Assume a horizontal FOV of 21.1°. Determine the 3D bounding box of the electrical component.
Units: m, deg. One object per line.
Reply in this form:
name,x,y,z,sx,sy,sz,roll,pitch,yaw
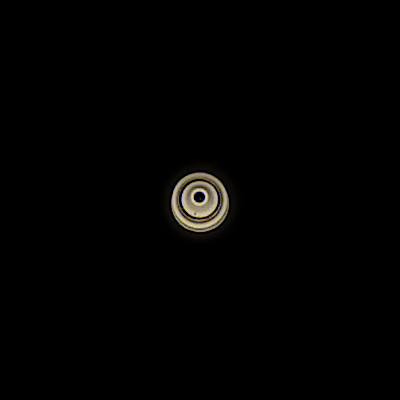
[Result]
electrical component,0.000,0.000,0.638,0.035,0.035,0.061,0,-4,0
